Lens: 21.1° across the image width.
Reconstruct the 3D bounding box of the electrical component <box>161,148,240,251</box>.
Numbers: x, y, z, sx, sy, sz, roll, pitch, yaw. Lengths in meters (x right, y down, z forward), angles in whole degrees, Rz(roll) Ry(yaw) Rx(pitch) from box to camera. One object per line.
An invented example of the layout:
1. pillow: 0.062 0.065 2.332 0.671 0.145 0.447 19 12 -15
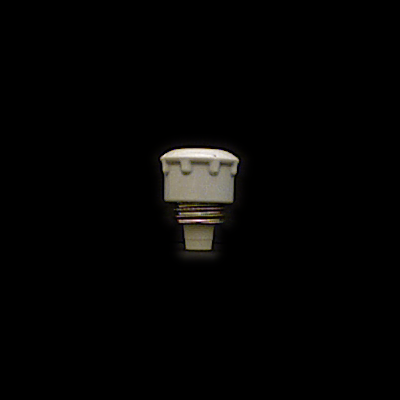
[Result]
1. electrical component: 0.000 0.000 0.654 0.048 0.062 0.048 1 1 1
